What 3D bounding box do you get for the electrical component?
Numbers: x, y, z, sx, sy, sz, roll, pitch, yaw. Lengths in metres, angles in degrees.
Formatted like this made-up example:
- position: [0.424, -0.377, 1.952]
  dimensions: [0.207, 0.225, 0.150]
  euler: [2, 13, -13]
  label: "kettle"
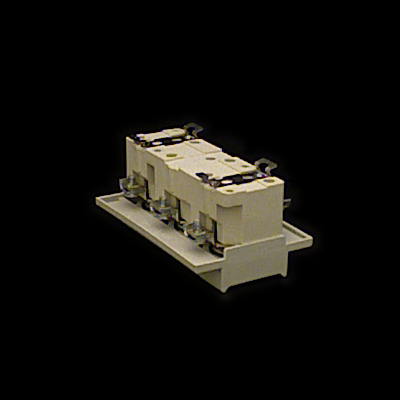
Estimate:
- position: [0.000, 0.000, 0.643]
  dimensions: [0.079, 0.064, 0.119]
  euler: [-13, 25, -30]
  label: "electrical component"
